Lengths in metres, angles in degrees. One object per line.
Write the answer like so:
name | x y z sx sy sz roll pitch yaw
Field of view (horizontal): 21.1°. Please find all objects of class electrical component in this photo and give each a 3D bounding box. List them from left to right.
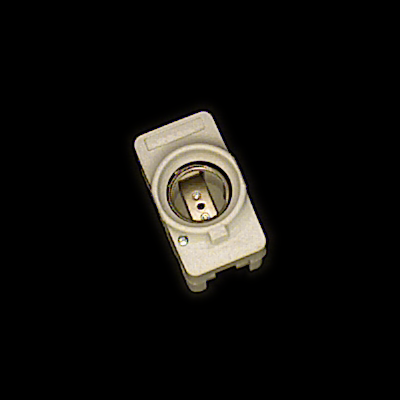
electrical component | 0.000 0.000 0.636 0.050 0.089 0.055 -22 -15 -6
